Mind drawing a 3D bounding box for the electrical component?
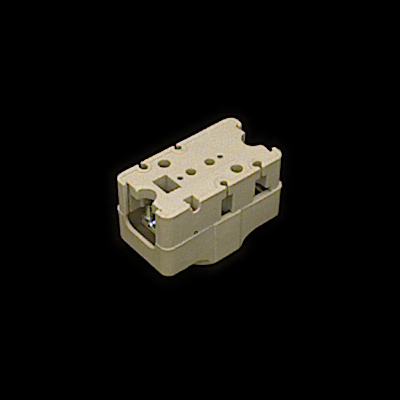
[{"bbox_3d":[0.000,0.000,0.639,0.090,0.056,0.049,-30,51,-28],"label":"electrical component"}]
